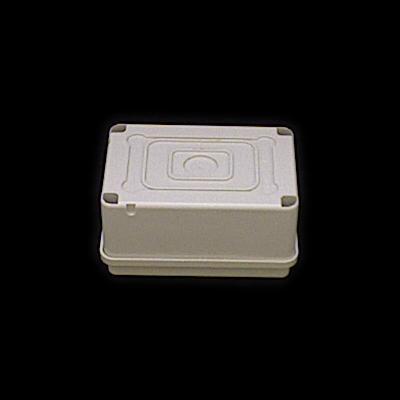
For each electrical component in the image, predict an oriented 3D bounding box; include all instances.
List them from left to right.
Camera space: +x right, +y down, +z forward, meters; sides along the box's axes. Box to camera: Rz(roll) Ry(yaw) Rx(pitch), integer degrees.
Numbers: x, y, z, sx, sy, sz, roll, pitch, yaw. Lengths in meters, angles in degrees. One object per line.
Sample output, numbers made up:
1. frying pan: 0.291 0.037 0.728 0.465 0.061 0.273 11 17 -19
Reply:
1. electrical component: 0.000 0.000 0.632 0.113 0.057 0.077 1 42 0
